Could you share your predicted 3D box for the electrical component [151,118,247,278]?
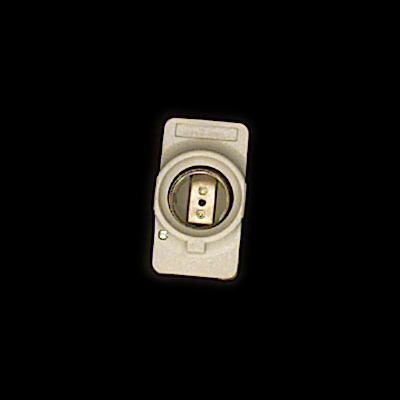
[{"bbox_3d":[0.000,0.000,0.637,0.050,0.090,0.055,5,-6,1],"label":"electrical component"}]
